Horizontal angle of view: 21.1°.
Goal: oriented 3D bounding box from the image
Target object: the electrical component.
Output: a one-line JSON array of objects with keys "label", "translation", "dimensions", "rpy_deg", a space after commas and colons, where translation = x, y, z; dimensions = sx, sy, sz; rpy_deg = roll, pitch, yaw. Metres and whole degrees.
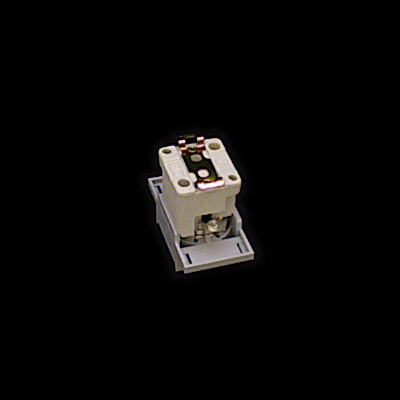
[{"label": "electrical component", "translation": [0.000, 0.000, 0.629], "dimensions": [0.042, 0.064, 0.080], "rpy_deg": [-12, 43, -14]}]
